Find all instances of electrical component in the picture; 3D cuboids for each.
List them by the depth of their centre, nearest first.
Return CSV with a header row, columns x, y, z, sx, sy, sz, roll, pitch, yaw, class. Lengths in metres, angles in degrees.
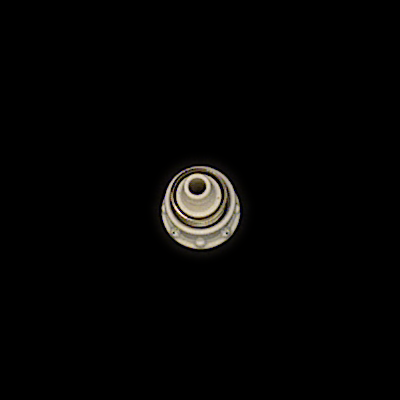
x,y,z,sx,sy,sz,roll,pitch,yaw,class
0.000,0.000,0.633,0.048,0.048,0.061,0,-16,2,electrical component
